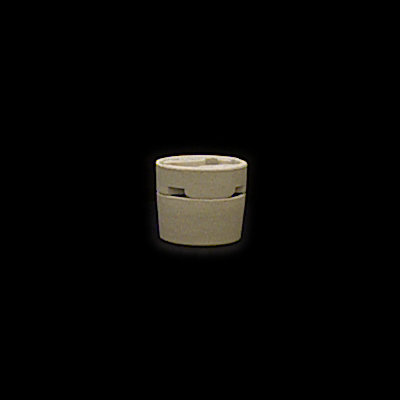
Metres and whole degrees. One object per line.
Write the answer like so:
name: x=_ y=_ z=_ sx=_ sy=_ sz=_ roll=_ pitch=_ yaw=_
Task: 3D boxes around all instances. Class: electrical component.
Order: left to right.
electrical component: x=0.000 y=0.000 z=0.644 sx=0.055 sy=0.047 sz=0.055 roll=1 pitch=10 yaw=0
